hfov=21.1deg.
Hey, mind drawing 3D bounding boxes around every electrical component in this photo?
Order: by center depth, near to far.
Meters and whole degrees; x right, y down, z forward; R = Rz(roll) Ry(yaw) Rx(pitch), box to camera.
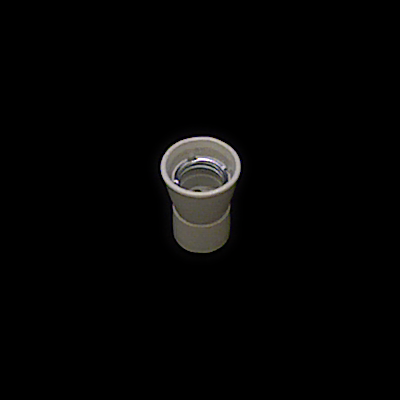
[{"bbox_3d":[0.000,0.000,0.627,0.044,0.044,0.065,0,-38,1],"label":"electrical component"}]
